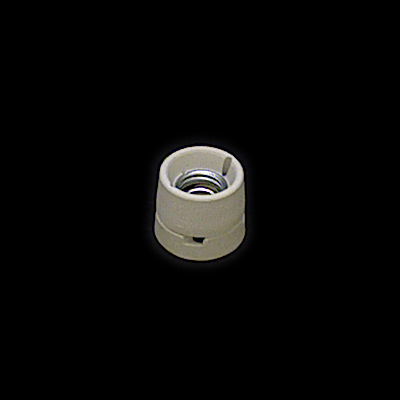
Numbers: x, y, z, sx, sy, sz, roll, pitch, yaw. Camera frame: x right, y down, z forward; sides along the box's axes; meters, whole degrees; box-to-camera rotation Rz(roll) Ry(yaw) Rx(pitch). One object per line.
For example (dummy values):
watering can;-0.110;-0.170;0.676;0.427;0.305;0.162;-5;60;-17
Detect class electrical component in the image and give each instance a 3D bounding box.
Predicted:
electrical component;0.000;0.000;0.637;0.055;0.047;0.055;1;42;-1
